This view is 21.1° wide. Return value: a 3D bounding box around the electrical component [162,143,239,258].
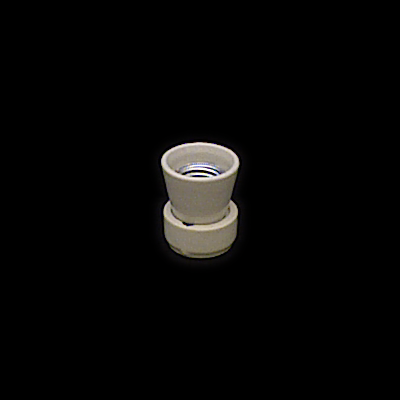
[{"bbox_3d":[0.000,0.000,0.634,0.045,0.056,0.044,1,31,0],"label":"electrical component"}]
